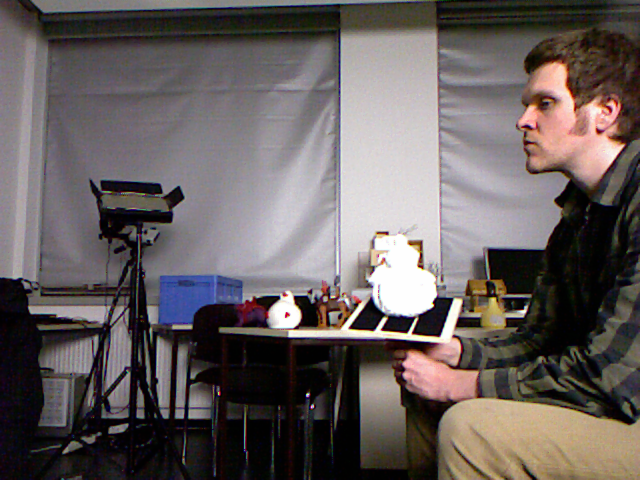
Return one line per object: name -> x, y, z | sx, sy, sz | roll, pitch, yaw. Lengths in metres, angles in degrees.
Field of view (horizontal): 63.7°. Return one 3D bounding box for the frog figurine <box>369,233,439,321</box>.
frog figurine -> 0.166, 0.072, 1.017 | 0.138, 0.157, 0.124 | 11, 23, 35
